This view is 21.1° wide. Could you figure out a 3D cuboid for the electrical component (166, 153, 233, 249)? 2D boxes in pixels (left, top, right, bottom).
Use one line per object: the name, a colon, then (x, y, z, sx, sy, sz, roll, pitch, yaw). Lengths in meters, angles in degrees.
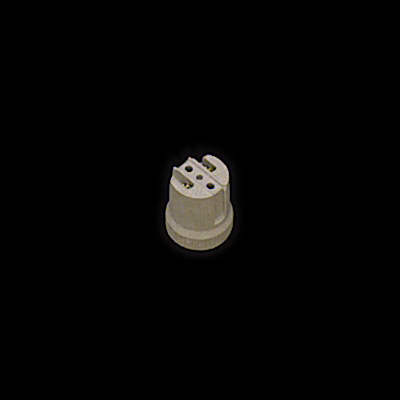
electrical component: (0.000, 0.000, 0.635, 0.040, 0.040, 0.046, 0, -37, -1)
